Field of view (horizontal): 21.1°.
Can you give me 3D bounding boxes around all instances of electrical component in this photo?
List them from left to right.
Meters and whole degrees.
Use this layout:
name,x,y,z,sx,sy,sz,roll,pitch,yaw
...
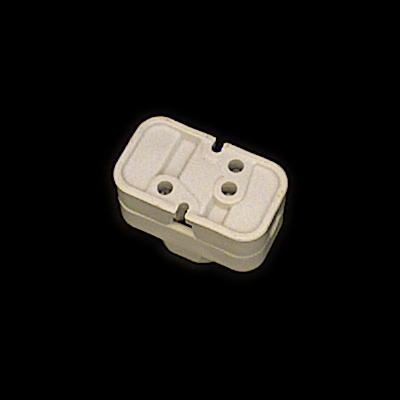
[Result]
name,x,y,z,sx,sy,sz,roll,pitch,yaw
electrical component,0.000,0.000,0.636,0.095,0.054,0.059,23,-24,12
